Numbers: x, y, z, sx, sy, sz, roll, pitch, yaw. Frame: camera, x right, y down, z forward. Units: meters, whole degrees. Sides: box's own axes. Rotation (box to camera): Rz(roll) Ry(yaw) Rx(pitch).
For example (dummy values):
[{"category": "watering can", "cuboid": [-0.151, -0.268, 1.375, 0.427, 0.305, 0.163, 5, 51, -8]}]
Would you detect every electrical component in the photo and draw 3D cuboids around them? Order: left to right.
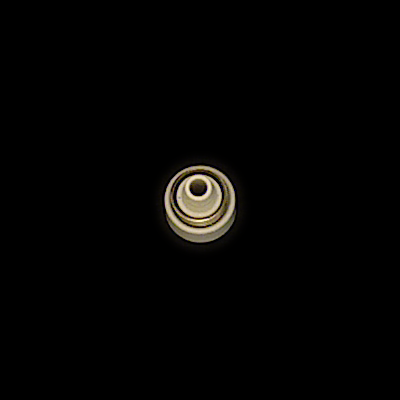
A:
[{"category": "electrical component", "cuboid": [0.000, 0.000, 0.633, 0.043, 0.043, 0.061, 0, -15, 1]}]
